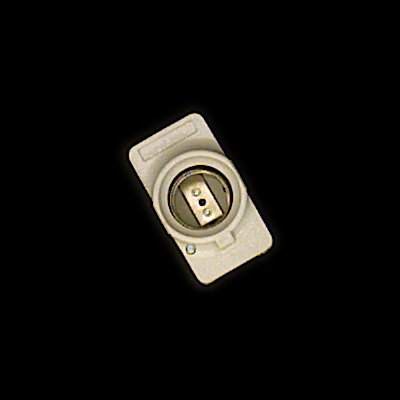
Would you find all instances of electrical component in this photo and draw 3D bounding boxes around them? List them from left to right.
[{"bbox_3d":[0.000,0.000,0.637,0.050,0.089,0.055,-30,-5,-2],"label":"electrical component"}]
